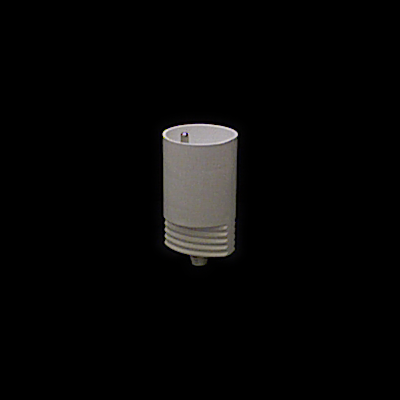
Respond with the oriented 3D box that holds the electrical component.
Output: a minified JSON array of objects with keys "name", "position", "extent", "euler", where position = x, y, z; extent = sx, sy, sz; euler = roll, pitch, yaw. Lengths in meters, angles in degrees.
[{"name":"electrical component","position":[0.000,0.000,0.633],"extent":[0.043,0.082,0.042],"euler":[1,20,0]}]
